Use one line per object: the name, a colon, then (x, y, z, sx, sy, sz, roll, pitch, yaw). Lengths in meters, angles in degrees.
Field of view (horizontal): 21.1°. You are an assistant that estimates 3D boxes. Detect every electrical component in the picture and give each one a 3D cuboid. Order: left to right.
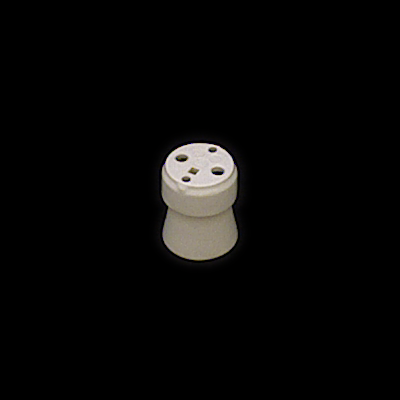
electrical component: (0.000, 0.000, 0.633, 0.045, 0.055, 0.044, 1, 42, 0)
